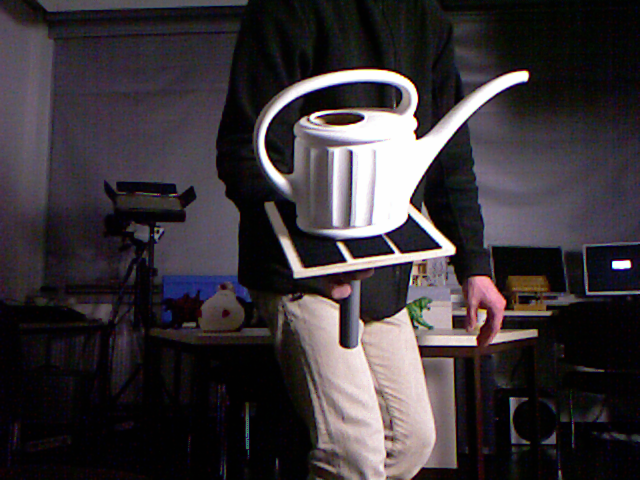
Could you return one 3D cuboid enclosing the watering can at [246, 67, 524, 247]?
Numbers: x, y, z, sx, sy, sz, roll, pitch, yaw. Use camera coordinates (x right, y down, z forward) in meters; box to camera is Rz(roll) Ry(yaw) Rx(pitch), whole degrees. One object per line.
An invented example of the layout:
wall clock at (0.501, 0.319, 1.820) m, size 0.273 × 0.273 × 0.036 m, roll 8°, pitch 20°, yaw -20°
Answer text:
watering can at (0.085, -0.105, 0.645) m, size 0.348 × 0.219 × 0.106 m, roll -7°, pitch 33°, yaw -11°
